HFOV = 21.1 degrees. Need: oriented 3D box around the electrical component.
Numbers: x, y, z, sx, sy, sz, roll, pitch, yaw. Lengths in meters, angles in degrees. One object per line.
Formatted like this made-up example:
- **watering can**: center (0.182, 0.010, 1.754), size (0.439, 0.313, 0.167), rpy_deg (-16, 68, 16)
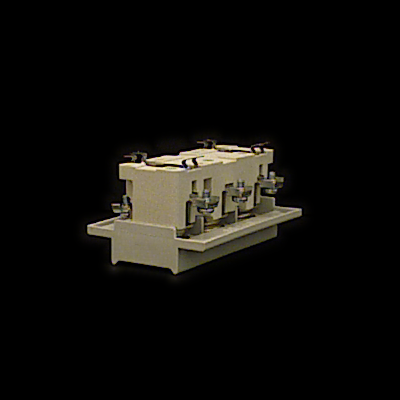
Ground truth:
- **electrical component**: center (0.000, 0.000, 0.652), size (0.078, 0.063, 0.122), rpy_deg (7, 12, 30)
